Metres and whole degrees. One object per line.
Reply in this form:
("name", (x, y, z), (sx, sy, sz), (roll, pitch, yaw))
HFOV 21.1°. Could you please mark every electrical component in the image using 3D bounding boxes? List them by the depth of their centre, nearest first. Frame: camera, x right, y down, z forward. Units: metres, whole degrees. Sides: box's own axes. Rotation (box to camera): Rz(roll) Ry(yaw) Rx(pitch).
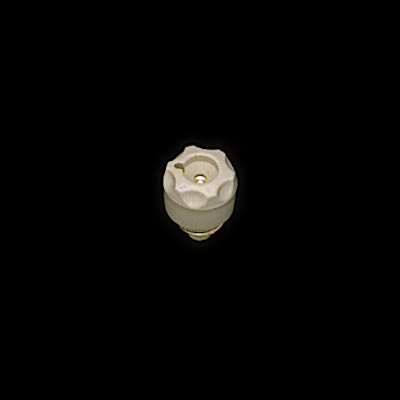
("electrical component", (0.000, 0.000, 0.636), (0.043, 0.043, 0.062), (0, -37, -1))
